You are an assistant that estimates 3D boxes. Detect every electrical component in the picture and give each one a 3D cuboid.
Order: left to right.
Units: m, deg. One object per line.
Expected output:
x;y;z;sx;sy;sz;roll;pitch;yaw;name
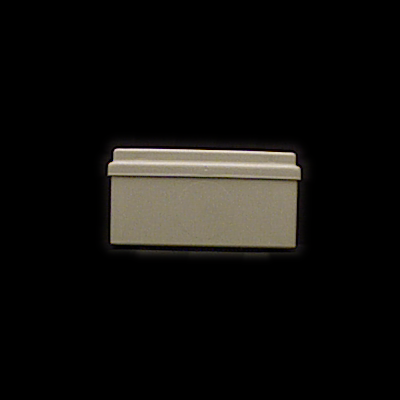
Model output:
0.000;0.000;0.651;0.109;0.056;0.108;1;0;-4;electrical component
